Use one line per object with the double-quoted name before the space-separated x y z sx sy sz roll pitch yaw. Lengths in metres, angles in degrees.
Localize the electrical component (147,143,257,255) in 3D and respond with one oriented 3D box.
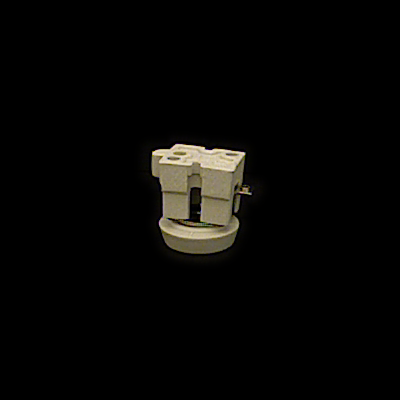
"electrical component" 0.000 0.000 0.646 0.066 0.056 0.048 7 22 12
